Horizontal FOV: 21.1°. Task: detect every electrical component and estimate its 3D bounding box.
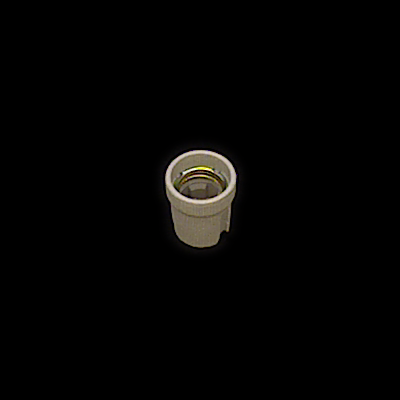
[{"bbox_3d":[0.000,0.000,0.631,0.040,0.039,0.047,0,-38,-1],"label":"electrical component"}]
